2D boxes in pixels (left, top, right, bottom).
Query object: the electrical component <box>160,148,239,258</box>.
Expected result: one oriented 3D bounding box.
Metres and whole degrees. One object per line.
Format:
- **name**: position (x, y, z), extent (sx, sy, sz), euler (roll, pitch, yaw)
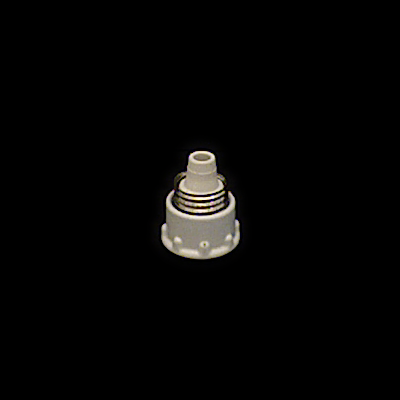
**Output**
- **electrical component**: position (0.000, 0.000, 0.643), extent (0.048, 0.063, 0.047), euler (1, 31, 0)
